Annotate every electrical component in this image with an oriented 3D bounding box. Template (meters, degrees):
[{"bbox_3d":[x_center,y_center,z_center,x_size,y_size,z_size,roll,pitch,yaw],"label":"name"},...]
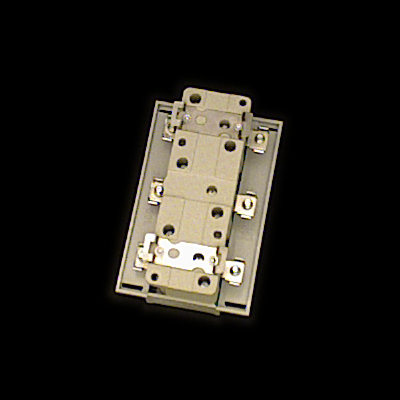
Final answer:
[{"bbox_3d":[0.000,0.000,0.633,0.078,0.122,0.062,10,-16,4],"label":"electrical component"}]
